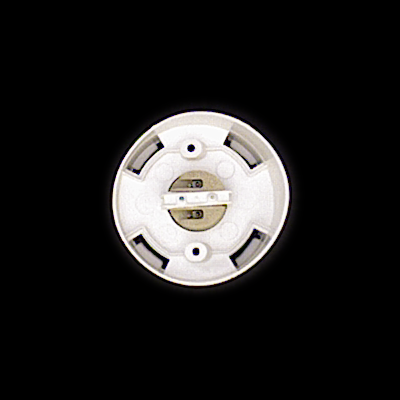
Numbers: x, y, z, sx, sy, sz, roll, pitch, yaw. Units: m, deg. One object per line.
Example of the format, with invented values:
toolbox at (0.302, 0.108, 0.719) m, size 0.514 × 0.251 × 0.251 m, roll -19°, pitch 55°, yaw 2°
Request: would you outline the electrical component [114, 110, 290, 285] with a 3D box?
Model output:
electrical component at (0.000, 0.000, 0.625) m, size 0.099 × 0.099 × 0.064 m, roll 0°, pitch -7°, yaw -1°
